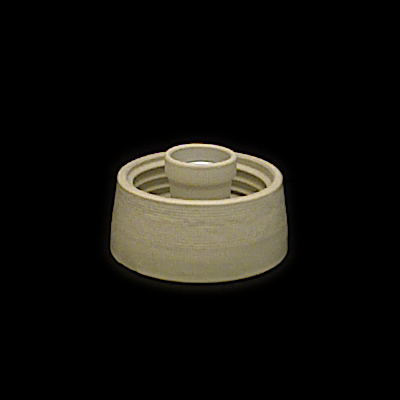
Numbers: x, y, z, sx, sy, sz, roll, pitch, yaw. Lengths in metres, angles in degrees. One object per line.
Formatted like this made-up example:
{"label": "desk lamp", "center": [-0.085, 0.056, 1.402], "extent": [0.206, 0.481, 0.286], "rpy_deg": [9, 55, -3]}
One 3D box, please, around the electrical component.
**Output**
{"label": "electrical component", "center": [0.000, 0.000, 0.644], "extent": [0.108, 0.061, 0.106], "rpy_deg": [1, 21, 0]}
